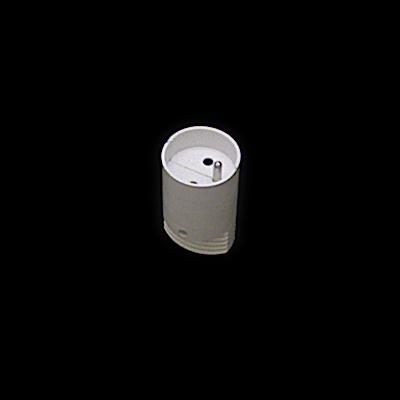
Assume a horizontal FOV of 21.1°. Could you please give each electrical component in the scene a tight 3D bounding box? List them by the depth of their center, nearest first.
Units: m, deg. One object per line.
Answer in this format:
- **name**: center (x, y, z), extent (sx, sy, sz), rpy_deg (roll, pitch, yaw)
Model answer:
- **electrical component**: center (0.000, 0.000, 0.620), extent (0.043, 0.043, 0.081), rpy_deg (0, -37, -1)
